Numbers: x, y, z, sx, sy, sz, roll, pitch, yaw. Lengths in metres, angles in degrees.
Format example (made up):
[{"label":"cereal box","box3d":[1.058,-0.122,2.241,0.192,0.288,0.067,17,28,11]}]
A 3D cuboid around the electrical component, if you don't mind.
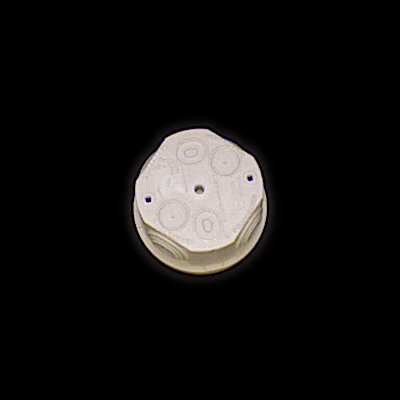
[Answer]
[{"label":"electrical component","box3d":[0.000,0.000,0.632,0.080,0.080,0.050,0,-17,0]}]
